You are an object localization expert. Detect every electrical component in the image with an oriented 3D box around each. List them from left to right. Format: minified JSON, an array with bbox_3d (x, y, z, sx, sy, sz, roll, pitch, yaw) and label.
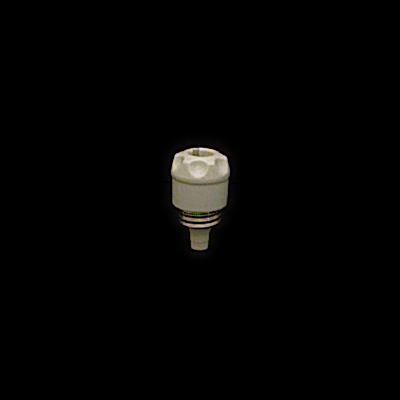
[{"bbox_3d":[0.000,0.000,0.648,0.035,0.062,0.034,1,22,0],"label":"electrical component"}]
